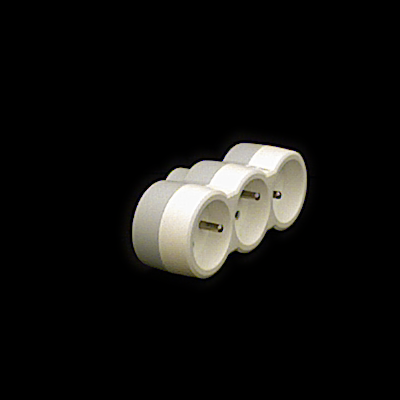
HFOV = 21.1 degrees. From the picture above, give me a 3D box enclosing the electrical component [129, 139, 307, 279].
[{"bbox_3d":[0.000,0.000,0.650,0.072,0.053,0.138,13,24,31],"label":"electrical component"}]
